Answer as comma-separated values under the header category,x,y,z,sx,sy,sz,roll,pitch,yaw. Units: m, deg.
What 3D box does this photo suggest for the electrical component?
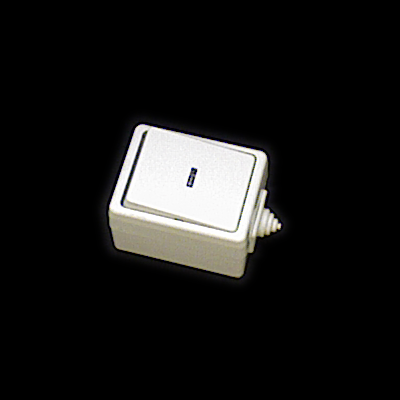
category,x,y,z,sx,sy,sz,roll,pitch,yaw
electrical component,0.000,0.000,0.626,0.096,0.062,0.061,13,-26,7
